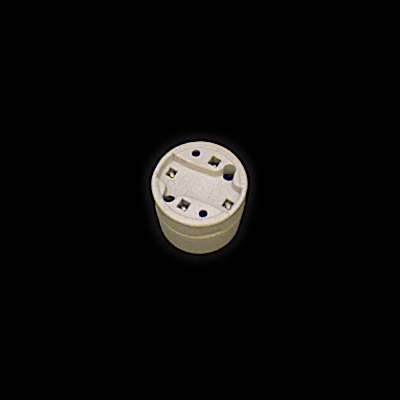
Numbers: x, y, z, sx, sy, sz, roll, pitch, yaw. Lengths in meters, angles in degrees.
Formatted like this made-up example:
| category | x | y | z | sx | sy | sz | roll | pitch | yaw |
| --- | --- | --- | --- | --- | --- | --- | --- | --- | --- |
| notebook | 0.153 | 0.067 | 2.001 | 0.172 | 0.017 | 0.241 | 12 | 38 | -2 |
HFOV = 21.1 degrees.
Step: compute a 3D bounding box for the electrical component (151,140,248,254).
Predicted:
| category | x | y | z | sx | sy | sz | roll | pitch | yaw |
| --- | --- | --- | --- | --- | --- | --- | --- | --- | --- |
| electrical component | 0.000 | 0.000 | 0.634 | 0.055 | 0.056 | 0.047 | 0 | -27 | -1 |
